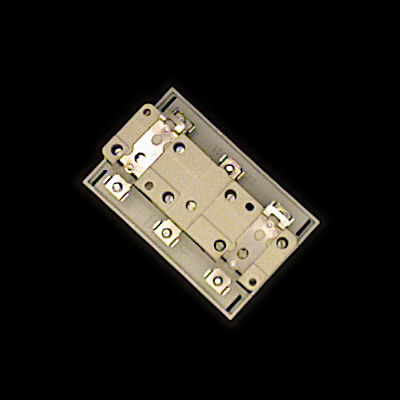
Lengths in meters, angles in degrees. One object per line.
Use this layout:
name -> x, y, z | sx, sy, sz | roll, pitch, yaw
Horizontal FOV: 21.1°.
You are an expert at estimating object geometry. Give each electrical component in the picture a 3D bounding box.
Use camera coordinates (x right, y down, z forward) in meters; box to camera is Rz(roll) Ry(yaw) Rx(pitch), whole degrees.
electrical component -> 0.000, 0.000, 0.635 | 0.121, 0.079, 0.063 | 42, -5, 4
